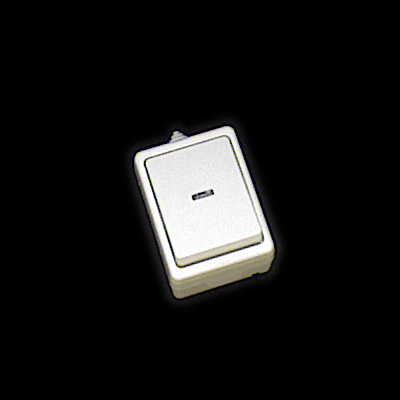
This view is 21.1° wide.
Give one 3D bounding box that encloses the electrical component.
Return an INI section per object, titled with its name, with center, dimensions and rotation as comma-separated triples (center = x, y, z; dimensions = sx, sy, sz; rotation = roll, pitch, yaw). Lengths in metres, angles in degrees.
[electrical component]
center = 0.000, 0.000, 0.626
dimensions = 0.062, 0.096, 0.060
rotation = -17, -16, -5
